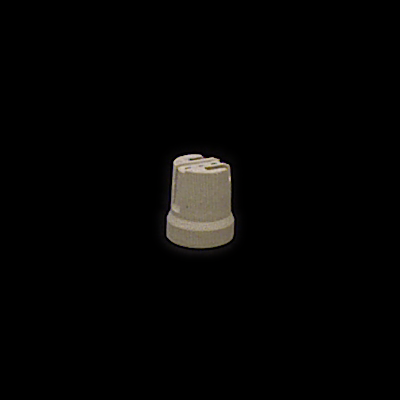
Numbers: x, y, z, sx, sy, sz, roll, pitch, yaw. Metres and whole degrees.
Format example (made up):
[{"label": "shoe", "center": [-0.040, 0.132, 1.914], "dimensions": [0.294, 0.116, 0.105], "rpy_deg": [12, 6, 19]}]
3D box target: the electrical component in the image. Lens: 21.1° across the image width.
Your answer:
[{"label": "electrical component", "center": [0.000, 0.000, 0.641], "dimensions": [0.040, 0.046, 0.040], "rpy_deg": [1, 22, 0]}]
